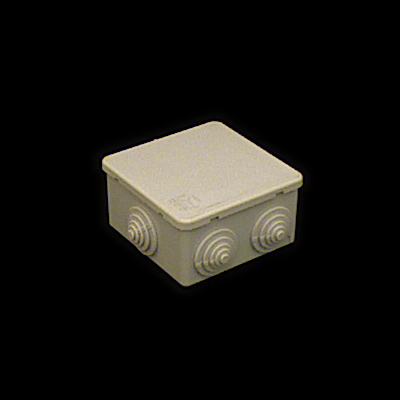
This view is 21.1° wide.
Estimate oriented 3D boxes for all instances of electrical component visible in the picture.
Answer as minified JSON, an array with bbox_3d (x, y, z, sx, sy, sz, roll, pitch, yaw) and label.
[{"bbox_3d":[0.000,0.000,0.643,0.100,0.049,0.098,-21,38,-30],"label":"electrical component"}]
